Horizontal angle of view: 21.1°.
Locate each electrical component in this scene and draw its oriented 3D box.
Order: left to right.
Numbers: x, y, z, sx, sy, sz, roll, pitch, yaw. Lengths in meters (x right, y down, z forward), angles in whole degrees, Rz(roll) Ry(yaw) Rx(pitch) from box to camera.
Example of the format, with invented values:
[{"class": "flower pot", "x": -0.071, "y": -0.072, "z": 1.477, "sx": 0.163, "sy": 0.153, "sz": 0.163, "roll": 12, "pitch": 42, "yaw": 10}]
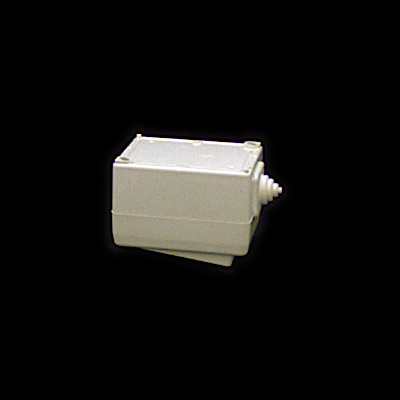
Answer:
[{"class": "electrical component", "x": 0.000, "y": 0.000, "z": 0.640, "sx": 0.096, "sy": 0.061, "sz": 0.061, "roll": 4, "pitch": 20, "yaw": 9}]
